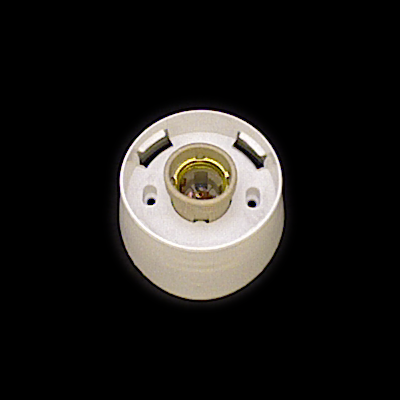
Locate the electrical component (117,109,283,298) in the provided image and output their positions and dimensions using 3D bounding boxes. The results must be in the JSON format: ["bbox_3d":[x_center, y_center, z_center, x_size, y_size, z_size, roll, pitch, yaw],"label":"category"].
[{"bbox_3d":[0.000,0.000,0.625,0.099,0.099,0.064,0,-27,0],"label":"electrical component"}]
